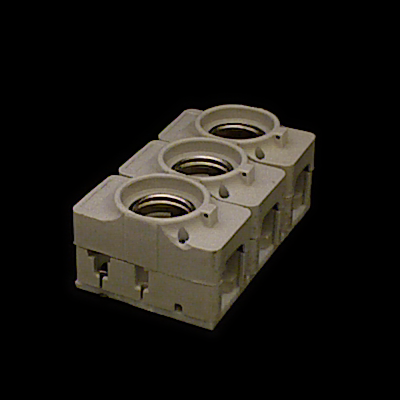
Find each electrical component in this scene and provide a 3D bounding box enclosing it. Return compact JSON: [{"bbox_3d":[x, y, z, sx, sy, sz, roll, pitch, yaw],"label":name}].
[{"bbox_3d":[0.000,0.000,0.640,0.089,0.063,0.147,15,34,21],"label":"electrical component"}]
